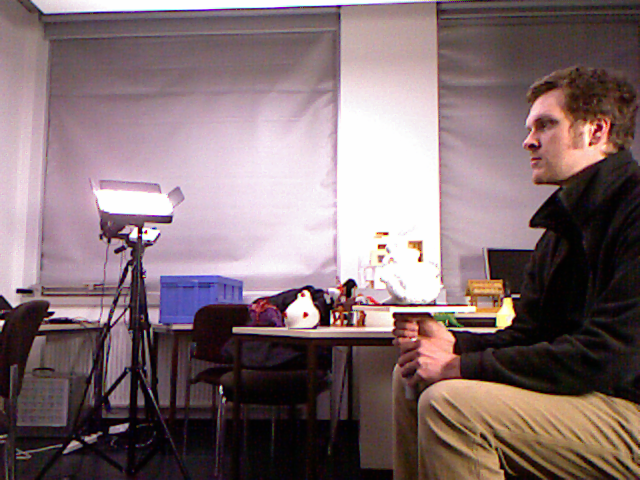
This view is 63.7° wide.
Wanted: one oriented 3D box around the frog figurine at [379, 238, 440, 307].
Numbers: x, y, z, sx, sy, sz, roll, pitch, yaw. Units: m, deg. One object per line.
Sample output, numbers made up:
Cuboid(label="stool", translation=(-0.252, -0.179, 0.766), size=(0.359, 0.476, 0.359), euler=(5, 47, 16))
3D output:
Cuboid(label="frog figurine", translation=(0.204, 0.074, 1.182), size=(0.137, 0.160, 0.122), euler=(-1, -2, 4))
